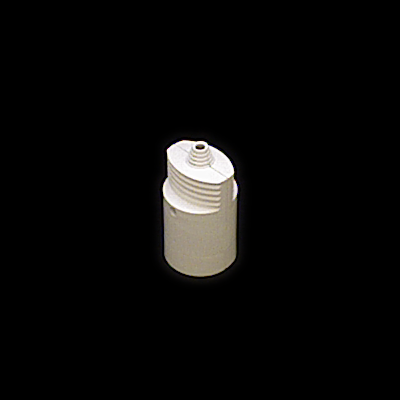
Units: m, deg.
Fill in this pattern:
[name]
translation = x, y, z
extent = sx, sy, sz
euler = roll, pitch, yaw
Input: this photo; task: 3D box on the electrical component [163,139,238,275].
[electrical component]
translation = 0.000, 0.000, 0.624
extent = 0.043, 0.082, 0.042
euler = 0, 42, 0
